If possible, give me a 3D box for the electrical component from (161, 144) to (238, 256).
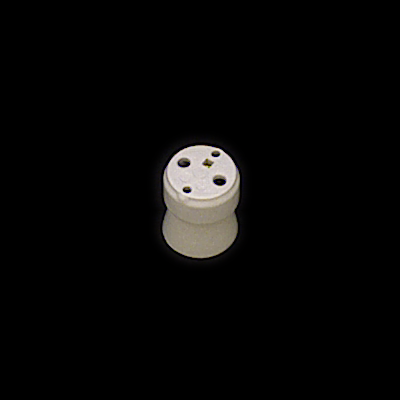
[{"bbox_3d":[0.000,0.000,0.630,0.045,0.044,0.055,0,-37,0],"label":"electrical component"}]
